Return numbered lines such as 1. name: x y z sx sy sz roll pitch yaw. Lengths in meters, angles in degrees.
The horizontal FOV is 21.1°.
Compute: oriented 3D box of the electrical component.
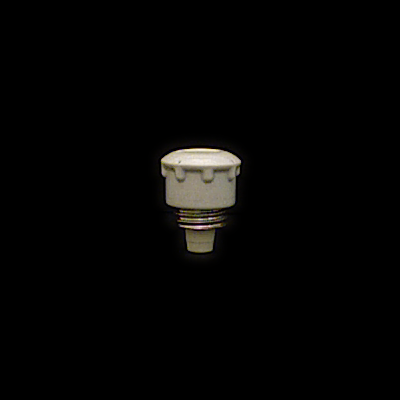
1. electrical component: 0.000 0.000 0.649 0.048 0.062 0.048 1 11 0
